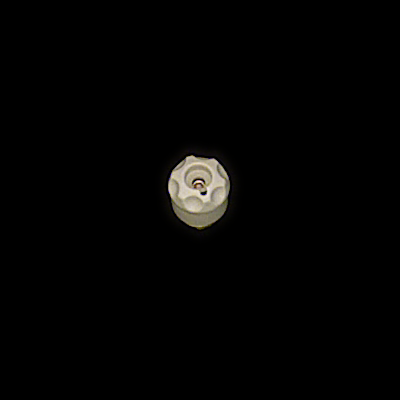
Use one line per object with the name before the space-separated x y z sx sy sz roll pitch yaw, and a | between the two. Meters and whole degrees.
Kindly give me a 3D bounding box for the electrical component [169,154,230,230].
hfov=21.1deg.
electrical component | 0.000 0.000 0.632 0.035 0.035 0.061 0 -26 0
